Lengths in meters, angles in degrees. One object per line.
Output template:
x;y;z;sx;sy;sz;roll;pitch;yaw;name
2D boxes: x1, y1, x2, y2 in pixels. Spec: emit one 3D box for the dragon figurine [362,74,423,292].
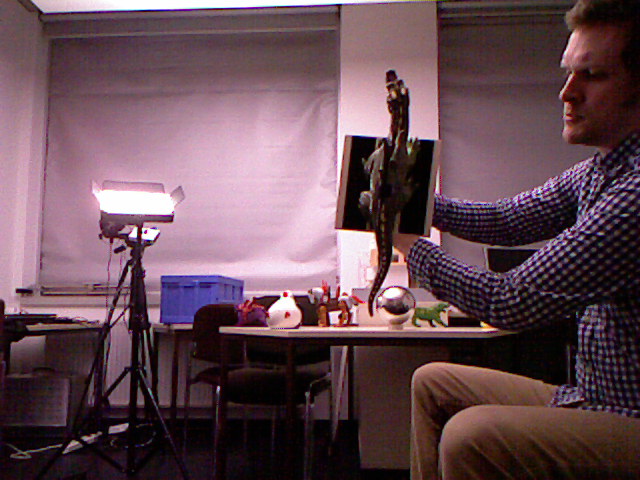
0.125;-0.097;0.962;0.123;0.413;0.244;3;-1;11;dragon figurine
